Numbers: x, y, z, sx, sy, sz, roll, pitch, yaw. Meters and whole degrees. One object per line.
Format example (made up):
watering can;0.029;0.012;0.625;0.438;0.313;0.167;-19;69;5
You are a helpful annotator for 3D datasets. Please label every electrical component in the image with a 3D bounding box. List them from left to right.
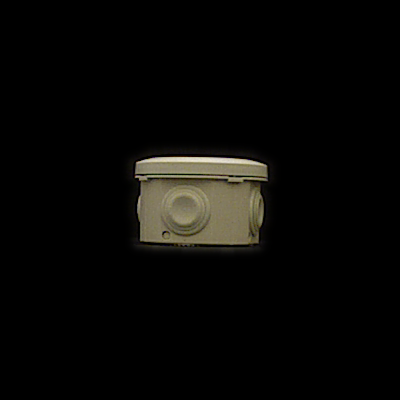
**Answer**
electrical component;0.000;0.000;0.650;0.080;0.051;0.080;1;0;0
